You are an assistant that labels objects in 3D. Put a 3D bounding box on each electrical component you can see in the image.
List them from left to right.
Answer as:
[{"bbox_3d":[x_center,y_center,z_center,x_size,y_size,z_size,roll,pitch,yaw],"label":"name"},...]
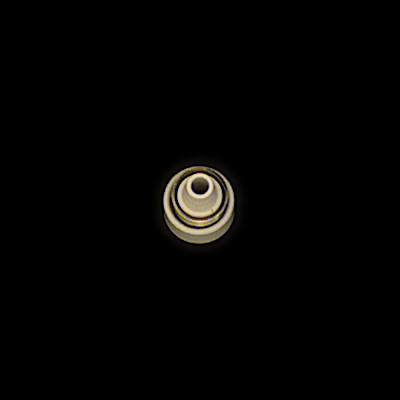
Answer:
[{"bbox_3d":[0.000,0.000,0.634,0.043,0.043,0.061,0,-16,-1],"label":"electrical component"}]
